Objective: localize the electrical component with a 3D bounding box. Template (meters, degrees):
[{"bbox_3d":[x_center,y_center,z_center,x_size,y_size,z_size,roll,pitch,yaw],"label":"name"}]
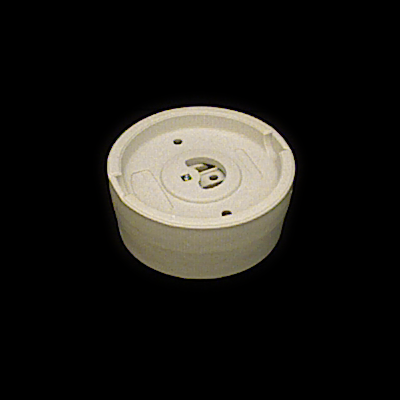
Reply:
[{"bbox_3d":[0.000,0.000,0.635,0.108,0.061,0.107,1,42,0],"label":"electrical component"}]
